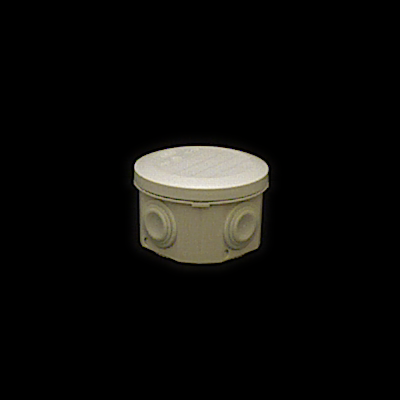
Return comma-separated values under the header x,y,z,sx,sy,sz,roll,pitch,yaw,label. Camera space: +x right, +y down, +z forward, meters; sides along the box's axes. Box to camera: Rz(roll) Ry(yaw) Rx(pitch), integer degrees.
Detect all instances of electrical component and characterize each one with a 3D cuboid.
x,y,z,sx,sy,sz,roll,pitch,yaw,label
0.000,0.000,0.643,0.080,0.051,0.079,1,21,0,electrical component
